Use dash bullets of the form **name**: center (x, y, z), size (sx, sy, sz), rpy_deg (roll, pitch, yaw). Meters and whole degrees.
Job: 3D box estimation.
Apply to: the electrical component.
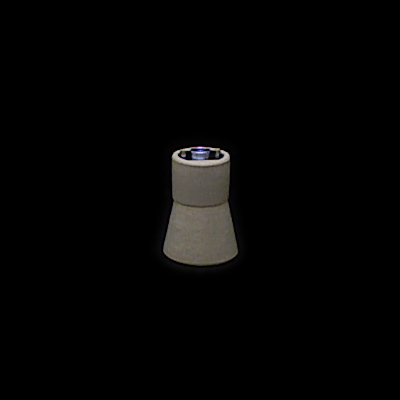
- **electrical component**: center (0.000, 0.000, 0.640), size (0.044, 0.066, 0.044), rpy_deg (1, 20, 0)
